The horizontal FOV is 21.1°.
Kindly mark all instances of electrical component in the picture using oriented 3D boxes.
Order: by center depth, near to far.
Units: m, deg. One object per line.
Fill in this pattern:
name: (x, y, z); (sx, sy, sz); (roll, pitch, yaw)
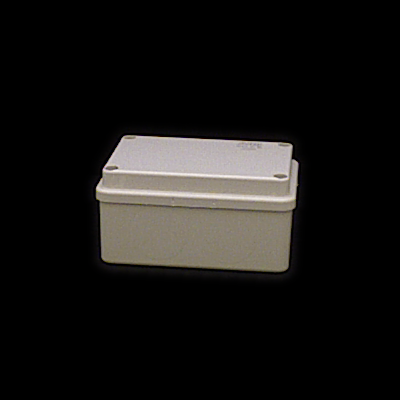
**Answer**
electrical component: (0.000, 0.000, 0.641); (0.113, 0.058, 0.077); (3, 21, 5)
